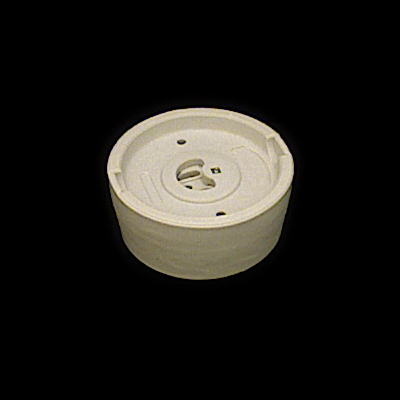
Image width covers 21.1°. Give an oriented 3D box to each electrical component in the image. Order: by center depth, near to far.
[{"bbox_3d":[0.000,0.000,0.640,0.108,0.061,0.106,0,43,0],"label":"electrical component"}]
